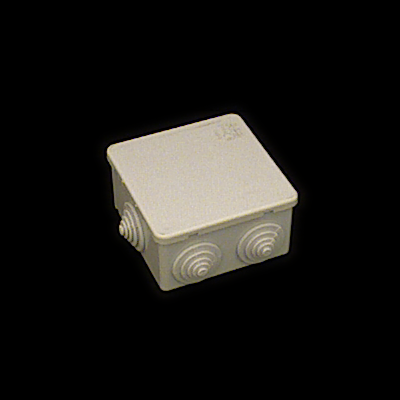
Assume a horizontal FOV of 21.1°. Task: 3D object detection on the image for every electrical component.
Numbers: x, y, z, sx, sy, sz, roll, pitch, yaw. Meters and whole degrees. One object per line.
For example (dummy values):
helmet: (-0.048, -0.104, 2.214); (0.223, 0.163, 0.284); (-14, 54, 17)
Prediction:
electrical component: (0.000, 0.000, 0.643); (0.100, 0.049, 0.098); (-16, 45, -18)
